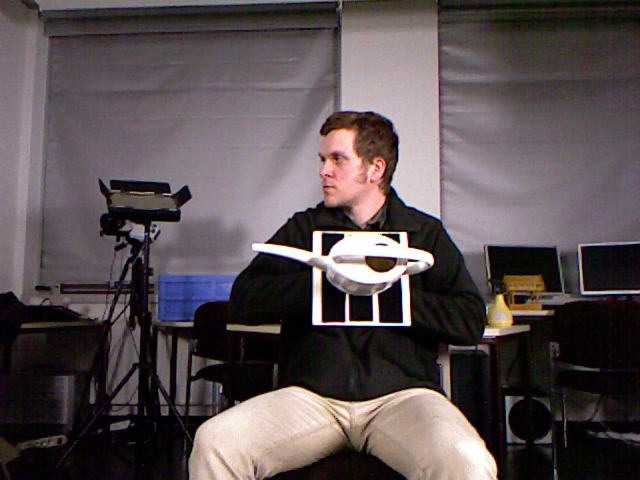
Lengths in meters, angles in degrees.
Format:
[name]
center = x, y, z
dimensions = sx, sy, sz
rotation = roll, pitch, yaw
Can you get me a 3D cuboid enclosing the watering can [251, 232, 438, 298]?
[watering can]
center = 0.046, 0.044, 1.004
dimensions = 0.349, 0.106, 0.222
rotation = 3, -18, -3
